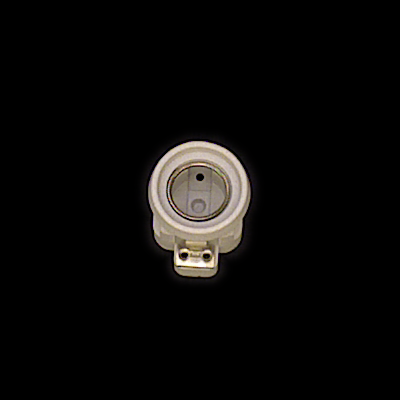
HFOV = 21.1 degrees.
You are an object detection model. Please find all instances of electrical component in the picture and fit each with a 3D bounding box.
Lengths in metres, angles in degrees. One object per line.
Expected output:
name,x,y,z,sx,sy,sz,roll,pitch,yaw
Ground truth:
electrical component,0.000,0.000,0.628,0.058,0.079,0.056,3,-17,1
